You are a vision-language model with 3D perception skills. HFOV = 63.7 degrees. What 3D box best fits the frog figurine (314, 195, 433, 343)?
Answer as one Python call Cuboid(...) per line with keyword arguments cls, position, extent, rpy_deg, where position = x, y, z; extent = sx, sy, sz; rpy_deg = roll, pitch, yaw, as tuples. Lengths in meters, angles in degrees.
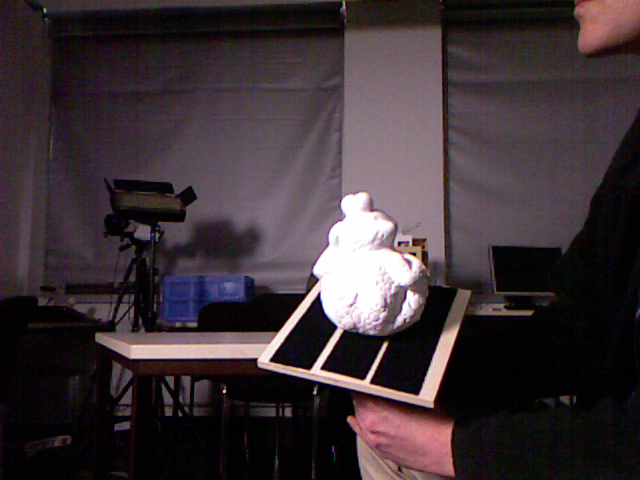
Cuboid(cls="frog figurine", position=(0.060, 0.033, 0.591), extent=(0.138, 0.156, 0.125), rpy_deg=(14, 38, 31))
